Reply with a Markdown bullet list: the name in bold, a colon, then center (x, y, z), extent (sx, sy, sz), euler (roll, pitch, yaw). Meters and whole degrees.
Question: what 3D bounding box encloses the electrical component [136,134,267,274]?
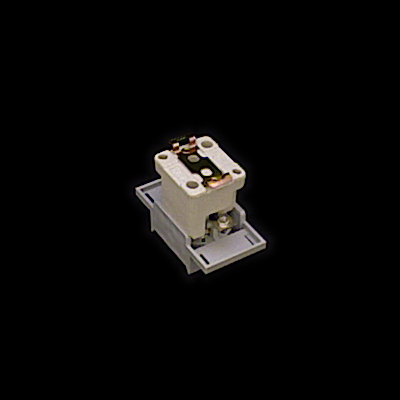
- **electrical component**: center (0.000, 0.000, 0.630), extent (0.042, 0.064, 0.080), euler (-23, 47, -24)
